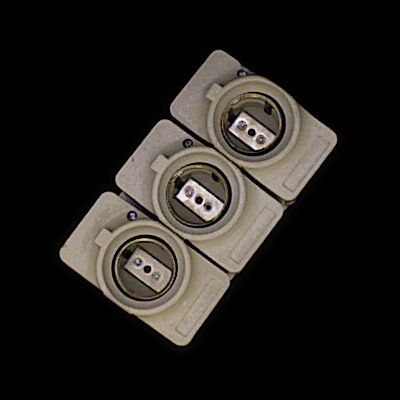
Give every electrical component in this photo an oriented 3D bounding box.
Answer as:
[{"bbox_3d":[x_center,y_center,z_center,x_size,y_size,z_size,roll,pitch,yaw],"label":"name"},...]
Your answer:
[{"bbox_3d":[0.000,0.000,0.632,0.089,0.150,0.061,37,-5,4],"label":"electrical component"}]
